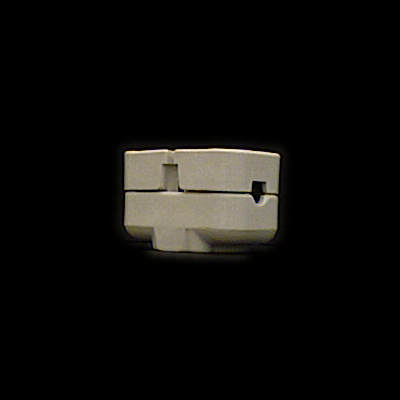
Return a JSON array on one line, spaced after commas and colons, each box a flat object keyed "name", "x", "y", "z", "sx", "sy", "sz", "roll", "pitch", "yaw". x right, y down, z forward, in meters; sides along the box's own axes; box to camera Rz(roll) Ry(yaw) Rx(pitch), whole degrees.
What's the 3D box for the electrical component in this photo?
[{"name": "electrical component", "x": 0.000, "y": 0.000, "z": 0.654, "sx": 0.094, "sy": 0.059, "sz": 0.054, "roll": 3, "pitch": 2, "yaw": 42}]
